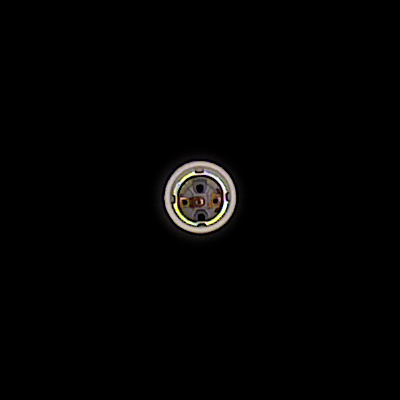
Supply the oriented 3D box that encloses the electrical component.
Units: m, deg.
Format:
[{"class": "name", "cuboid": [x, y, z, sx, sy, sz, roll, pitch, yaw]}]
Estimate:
[{"class": "electrical component", "cuboid": [0.000, 0.000, 0.627, 0.040, 0.040, 0.046, 0, -6, 0]}]
